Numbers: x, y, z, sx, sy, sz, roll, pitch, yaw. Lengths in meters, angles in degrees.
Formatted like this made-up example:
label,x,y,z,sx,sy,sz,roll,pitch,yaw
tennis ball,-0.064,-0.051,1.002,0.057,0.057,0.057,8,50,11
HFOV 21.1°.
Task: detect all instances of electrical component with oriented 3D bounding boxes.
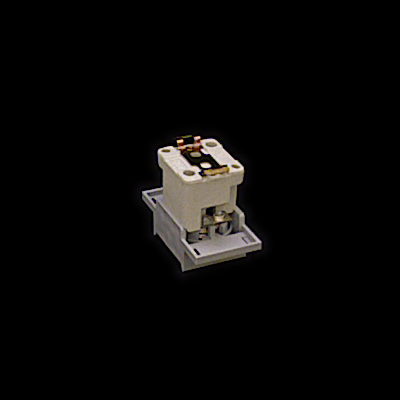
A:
label,x,y,z,sx,sy,sz,roll,pitch,yaw
electrical component,0.000,0.000,0.633,0.042,0.064,0.080,-13,34,-22
